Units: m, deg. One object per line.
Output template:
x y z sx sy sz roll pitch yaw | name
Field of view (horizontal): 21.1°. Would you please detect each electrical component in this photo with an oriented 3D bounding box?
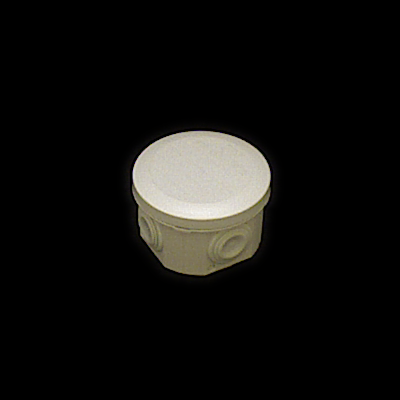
0.000 0.000 0.632 0.080 0.051 0.080 1 42 0 | electrical component
